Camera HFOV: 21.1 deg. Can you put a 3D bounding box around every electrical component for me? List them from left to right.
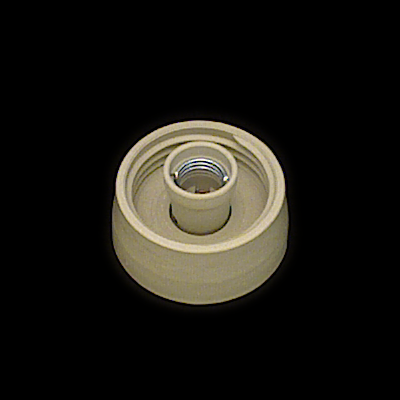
[{"bbox_3d":[0.000,0.000,0.636,0.108,0.107,0.060,0,-37,-1],"label":"electrical component"}]
